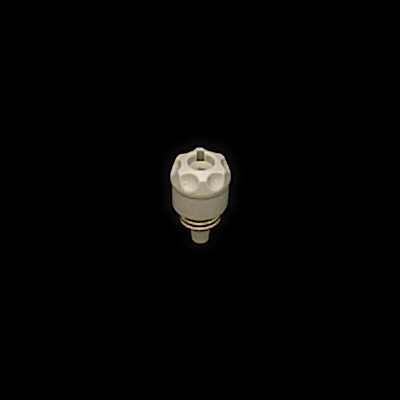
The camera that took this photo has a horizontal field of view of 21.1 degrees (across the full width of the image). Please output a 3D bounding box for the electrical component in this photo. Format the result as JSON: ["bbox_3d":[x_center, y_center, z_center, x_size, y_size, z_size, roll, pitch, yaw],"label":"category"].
[{"bbox_3d":[0.000,0.000,0.640,0.035,0.062,0.035,1,42,0],"label":"electrical component"}]
